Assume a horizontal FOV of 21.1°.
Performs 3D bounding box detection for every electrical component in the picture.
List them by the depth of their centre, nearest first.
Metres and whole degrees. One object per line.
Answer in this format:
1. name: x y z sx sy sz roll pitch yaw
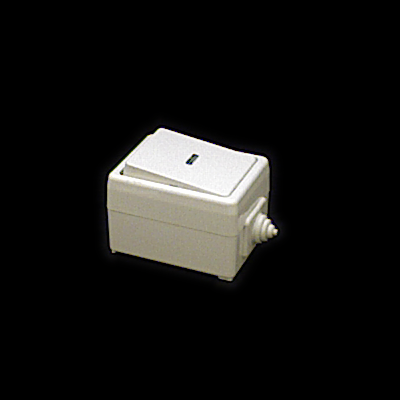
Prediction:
1. electrical component: 0.000 0.000 0.633 0.096 0.061 0.061 12 33 18
